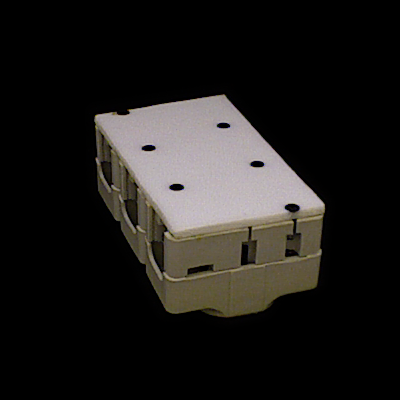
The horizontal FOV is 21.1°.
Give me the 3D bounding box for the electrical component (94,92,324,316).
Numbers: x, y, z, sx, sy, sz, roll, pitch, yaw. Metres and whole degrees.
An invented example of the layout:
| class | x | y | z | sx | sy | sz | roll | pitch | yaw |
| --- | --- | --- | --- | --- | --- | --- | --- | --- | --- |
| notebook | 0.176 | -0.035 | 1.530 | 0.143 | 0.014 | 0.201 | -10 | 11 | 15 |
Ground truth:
| class | x | y | z | sx | sy | sz | roll | pitch | yaw |
| --- | --- | --- | --- | --- | --- | --- | --- | --- | --- |
| electrical component | 0.000 | 0.000 | 0.639 | 0.089 | 0.063 | 0.147 | -10 | 33 | -17 |
